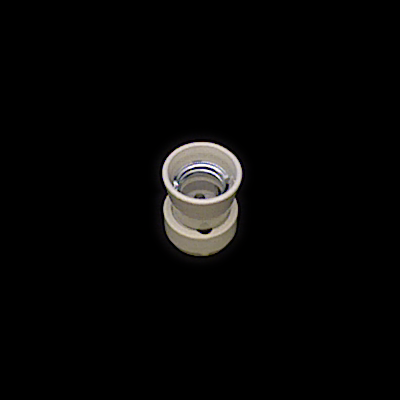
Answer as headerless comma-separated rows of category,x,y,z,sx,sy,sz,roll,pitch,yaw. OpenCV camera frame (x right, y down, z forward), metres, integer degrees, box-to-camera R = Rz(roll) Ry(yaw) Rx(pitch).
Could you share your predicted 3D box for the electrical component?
electrical component,0.000,0.000,0.631,0.045,0.044,0.055,0,-38,-1
